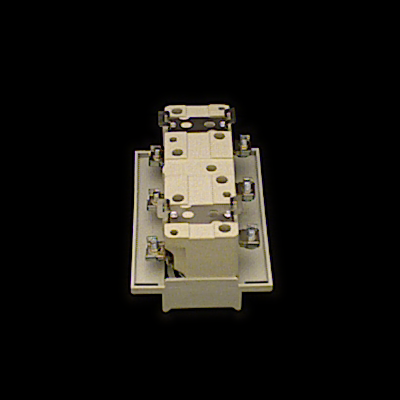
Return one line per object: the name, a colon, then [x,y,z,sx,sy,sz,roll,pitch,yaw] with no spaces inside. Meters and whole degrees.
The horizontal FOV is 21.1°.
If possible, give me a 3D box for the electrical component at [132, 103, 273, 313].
electrical component: [0.000,0.000,0.637,0.079,0.063,0.120,-1,42,-1]
